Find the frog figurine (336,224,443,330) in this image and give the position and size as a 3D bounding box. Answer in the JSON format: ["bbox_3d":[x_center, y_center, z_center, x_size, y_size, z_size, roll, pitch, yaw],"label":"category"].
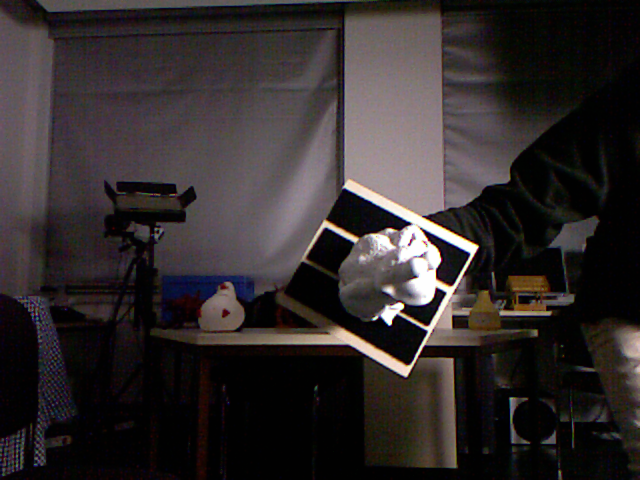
[{"bbox_3d":[0.080,0.040,0.630,0.138,0.124,0.158,-41,-12,-5],"label":"frog figurine"}]
